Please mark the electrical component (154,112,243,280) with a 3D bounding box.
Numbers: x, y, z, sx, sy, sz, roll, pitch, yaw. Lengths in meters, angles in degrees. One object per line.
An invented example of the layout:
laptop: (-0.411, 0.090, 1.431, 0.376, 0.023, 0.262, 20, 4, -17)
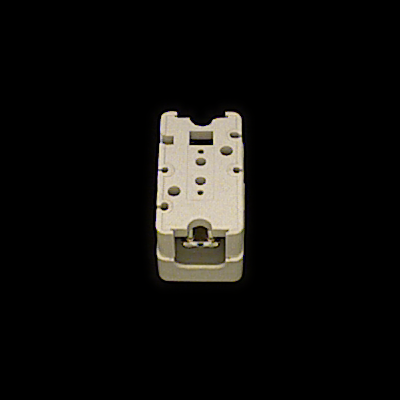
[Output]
electrical component: (0.000, 0.000, 0.637, 0.050, 0.089, 0.056, 0, -37, 1)
